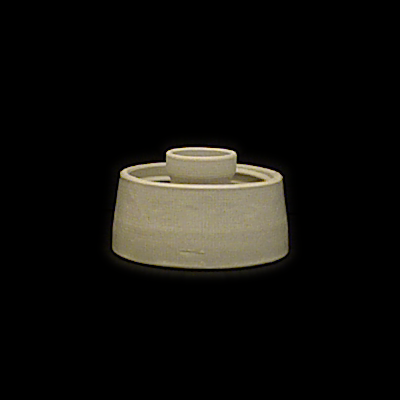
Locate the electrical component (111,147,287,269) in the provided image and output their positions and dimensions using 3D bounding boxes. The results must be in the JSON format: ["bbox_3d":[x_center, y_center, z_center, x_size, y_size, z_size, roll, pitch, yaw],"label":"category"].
[{"bbox_3d":[0.000,0.000,0.652,0.108,0.061,0.107,1,11,0],"label":"electrical component"}]
